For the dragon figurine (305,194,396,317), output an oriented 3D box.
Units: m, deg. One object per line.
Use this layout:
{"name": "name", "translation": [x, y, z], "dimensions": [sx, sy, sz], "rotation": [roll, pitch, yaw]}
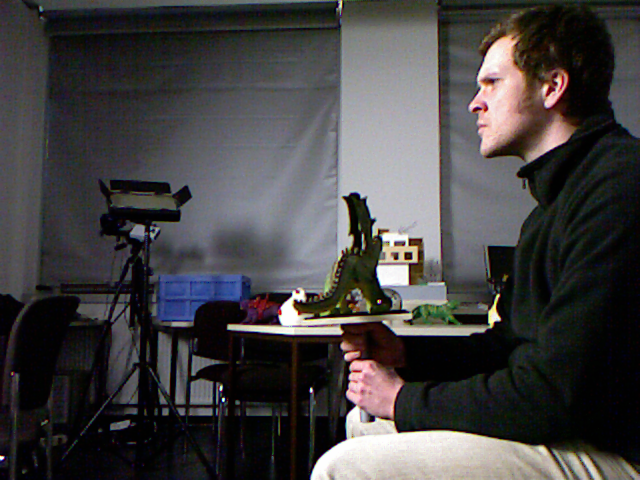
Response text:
{"name": "dragon figurine", "translation": [0.067, 0.029, 1.031], "dimensions": [0.122, 0.245, 0.409], "rotation": [-3, -7, 21]}
